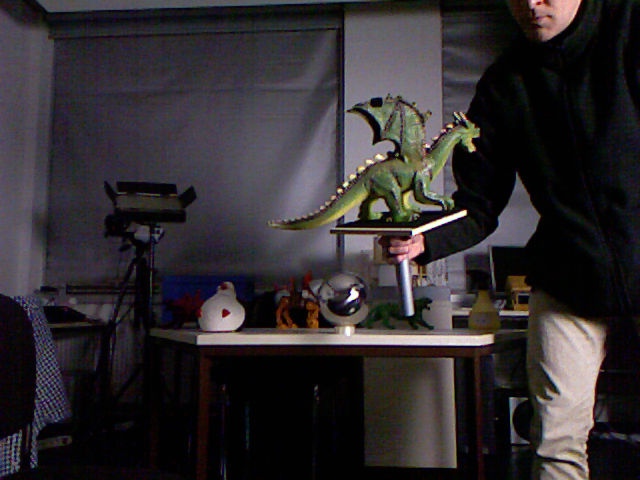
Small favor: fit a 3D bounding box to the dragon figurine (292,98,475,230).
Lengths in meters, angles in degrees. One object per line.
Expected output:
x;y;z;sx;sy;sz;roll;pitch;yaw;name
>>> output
0.134;-0.159;1.029;0.412;0.240;0.123;-11;17;-14;dragon figurine
